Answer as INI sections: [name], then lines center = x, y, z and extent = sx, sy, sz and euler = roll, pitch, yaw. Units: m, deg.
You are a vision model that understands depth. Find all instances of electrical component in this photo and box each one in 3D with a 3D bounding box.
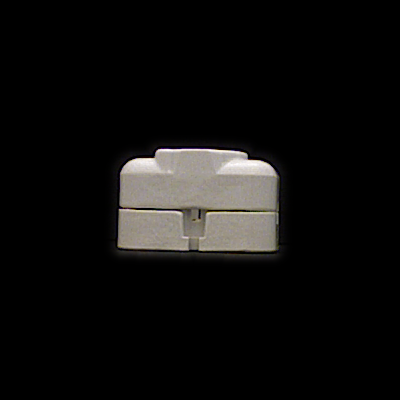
[electrical component]
center = 0.000, 0.000, 0.655
extent = 0.095, 0.059, 0.054
euler = 1, 1, 6
